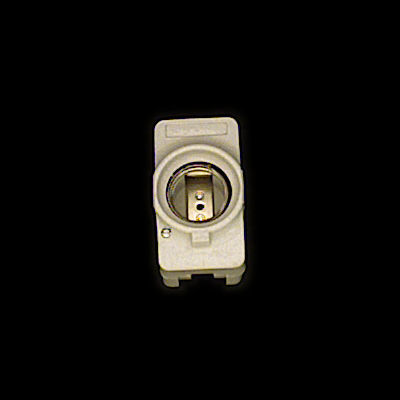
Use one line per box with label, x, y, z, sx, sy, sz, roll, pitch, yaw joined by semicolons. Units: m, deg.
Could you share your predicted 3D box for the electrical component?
electrical component;0.000;0.000;0.636;0.050;0.090;0.055;-3;-16;0
